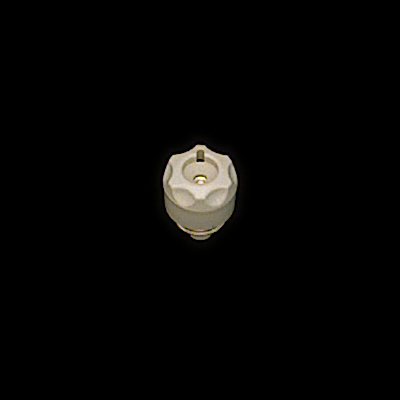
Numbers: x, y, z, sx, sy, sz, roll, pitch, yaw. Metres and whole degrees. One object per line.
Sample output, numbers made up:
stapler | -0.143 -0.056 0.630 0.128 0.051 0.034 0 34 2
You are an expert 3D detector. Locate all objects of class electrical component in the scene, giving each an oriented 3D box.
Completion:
electrical component | 0.000 0.000 0.635 0.043 0.043 0.062 0 -36 -1
